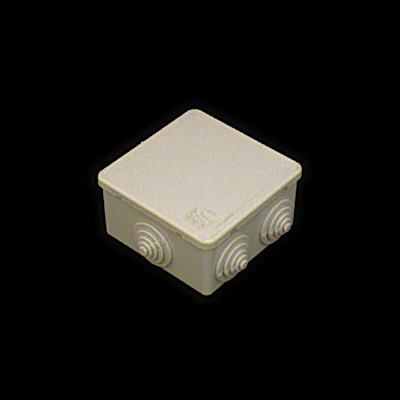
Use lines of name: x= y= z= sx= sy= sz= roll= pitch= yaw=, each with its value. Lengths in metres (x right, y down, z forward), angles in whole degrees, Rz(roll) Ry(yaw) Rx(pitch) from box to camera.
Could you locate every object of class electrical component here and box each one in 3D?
electrical component: x=0.000 y=0.000 z=0.641 sx=0.098 sy=0.049 sz=0.100 roll=31 pitch=50 yaw=28
